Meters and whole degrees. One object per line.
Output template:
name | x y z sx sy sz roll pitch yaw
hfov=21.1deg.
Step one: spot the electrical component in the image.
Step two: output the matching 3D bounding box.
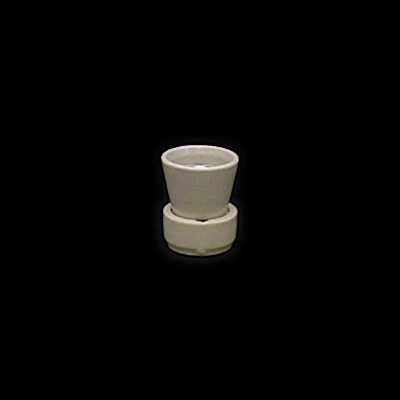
electrical component | 0.000 0.000 0.638 0.045 0.056 0.044 0 21 0
